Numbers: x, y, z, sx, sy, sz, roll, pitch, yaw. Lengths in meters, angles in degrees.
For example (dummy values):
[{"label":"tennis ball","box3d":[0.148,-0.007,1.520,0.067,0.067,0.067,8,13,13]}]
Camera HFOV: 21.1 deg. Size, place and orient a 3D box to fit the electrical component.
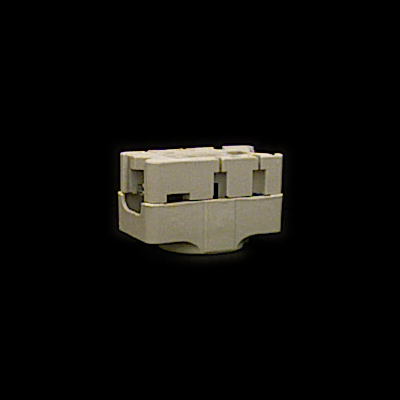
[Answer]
[{"label":"electrical component","box3d":[0.000,0.000,0.652,0.090,0.056,0.049,-4,12,-28]}]
